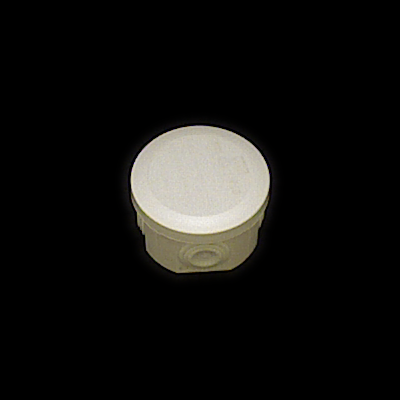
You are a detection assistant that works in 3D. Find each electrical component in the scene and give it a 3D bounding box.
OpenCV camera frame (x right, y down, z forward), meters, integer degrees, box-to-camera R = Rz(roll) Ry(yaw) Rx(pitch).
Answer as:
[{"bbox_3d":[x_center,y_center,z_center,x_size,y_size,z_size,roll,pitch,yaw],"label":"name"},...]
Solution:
[{"bbox_3d":[0.000,0.000,0.630,0.080,0.080,0.051,0,-38,0],"label":"electrical component"}]
